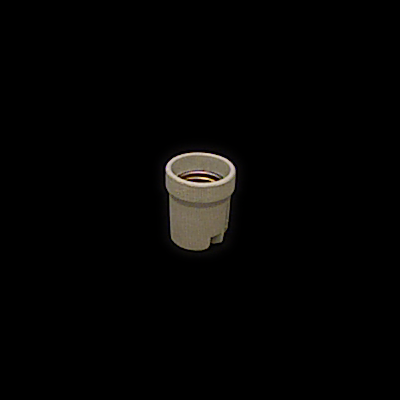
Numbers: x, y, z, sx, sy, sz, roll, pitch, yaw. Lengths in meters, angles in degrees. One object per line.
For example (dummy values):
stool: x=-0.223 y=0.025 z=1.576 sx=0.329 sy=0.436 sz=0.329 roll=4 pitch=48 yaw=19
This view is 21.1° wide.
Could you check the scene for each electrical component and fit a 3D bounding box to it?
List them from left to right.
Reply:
electrical component: x=0.000 y=0.000 z=0.635 sx=0.040 sy=0.047 sz=0.039 roll=1 pitch=32 yaw=0
